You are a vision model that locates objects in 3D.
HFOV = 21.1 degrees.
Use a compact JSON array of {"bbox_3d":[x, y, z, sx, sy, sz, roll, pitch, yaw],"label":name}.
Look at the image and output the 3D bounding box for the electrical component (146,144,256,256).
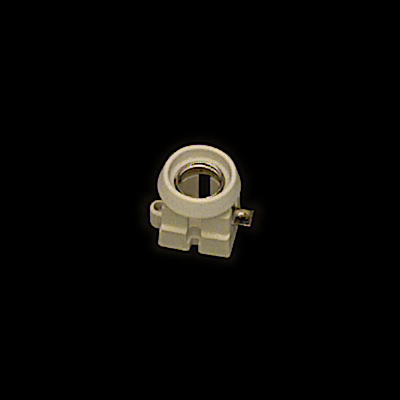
[{"bbox_3d":[0.000,0.000,0.639,0.066,0.048,0.056,9,-35,6],"label":"electrical component"}]
